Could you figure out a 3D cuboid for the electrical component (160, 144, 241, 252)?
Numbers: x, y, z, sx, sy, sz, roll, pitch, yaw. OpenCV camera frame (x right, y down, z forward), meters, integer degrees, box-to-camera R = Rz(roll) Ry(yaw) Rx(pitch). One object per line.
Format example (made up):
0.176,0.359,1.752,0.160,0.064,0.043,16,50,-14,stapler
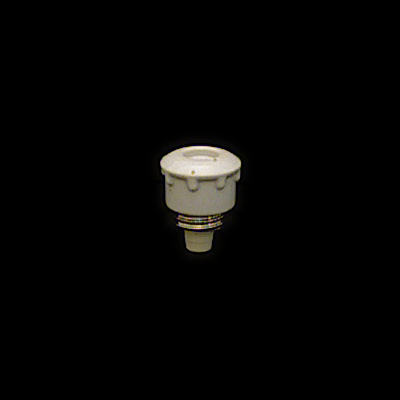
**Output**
0.000,0.000,0.647,0.048,0.063,0.047,1,22,0,electrical component
